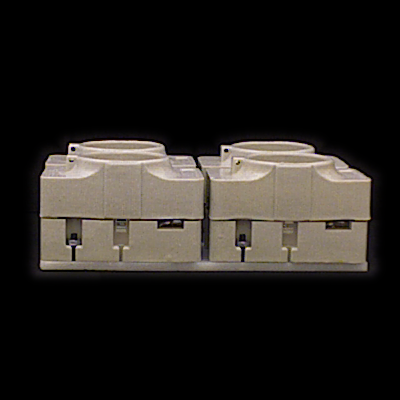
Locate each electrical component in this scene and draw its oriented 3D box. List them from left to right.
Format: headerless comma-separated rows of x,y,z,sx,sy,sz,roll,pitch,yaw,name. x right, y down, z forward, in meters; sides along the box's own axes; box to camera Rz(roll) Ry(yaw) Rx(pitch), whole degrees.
0.000,0.000,0.643,0.186,0.061,0.104,0,10,-5,electrical component
